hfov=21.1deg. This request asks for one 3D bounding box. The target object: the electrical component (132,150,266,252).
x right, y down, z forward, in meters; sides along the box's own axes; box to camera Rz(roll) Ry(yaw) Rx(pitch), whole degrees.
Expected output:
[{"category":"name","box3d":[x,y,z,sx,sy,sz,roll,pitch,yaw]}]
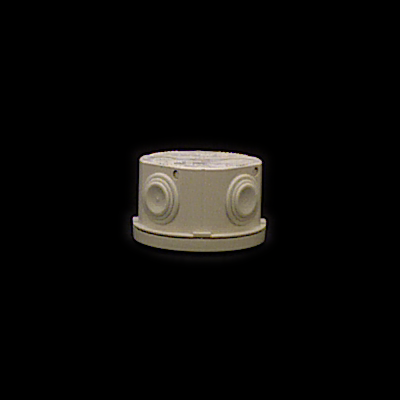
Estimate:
[{"category":"electrical component","box3d":[0.000,0.000,0.644,0.080,0.051,0.079,1,11,0]}]
